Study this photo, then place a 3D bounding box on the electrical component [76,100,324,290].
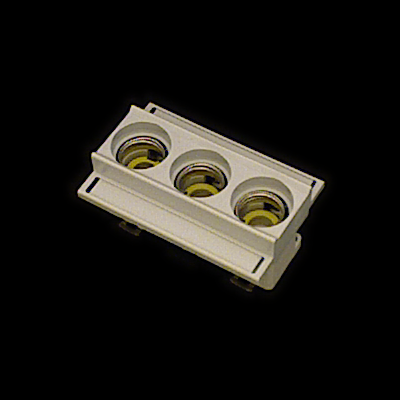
[{"bbox_3d":[0.000,0.000,0.638,0.121,0.078,0.063,26,-31,18],"label":"electrical component"}]
